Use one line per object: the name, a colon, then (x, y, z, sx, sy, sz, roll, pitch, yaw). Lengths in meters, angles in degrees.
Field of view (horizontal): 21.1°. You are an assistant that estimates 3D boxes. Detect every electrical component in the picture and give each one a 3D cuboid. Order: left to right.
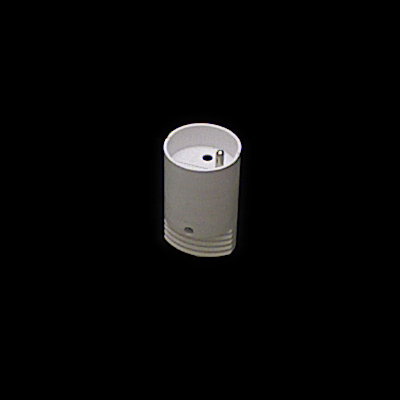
electrical component: (0.000, 0.000, 0.624, 0.043, 0.082, 0.042, 1, 42, -1)
